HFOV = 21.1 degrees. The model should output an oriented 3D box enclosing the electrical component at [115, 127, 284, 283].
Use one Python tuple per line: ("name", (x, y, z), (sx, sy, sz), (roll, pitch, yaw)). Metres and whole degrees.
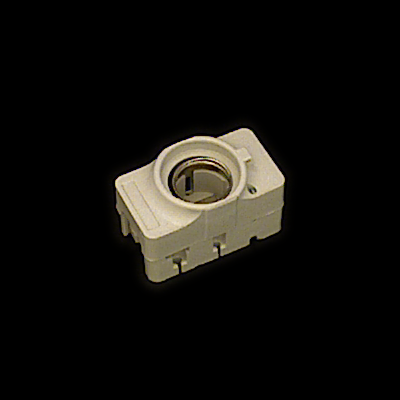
("electrical component", (0.000, 0.000, 0.637), (0.090, 0.050, 0.056), (-23, -34, -17))
